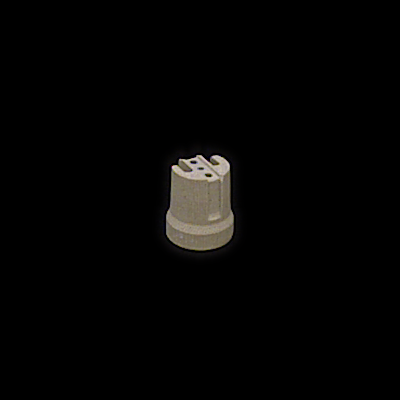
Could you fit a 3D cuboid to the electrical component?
[{"bbox_3d":[0.000,0.000,0.639,0.040,0.046,0.040,1,32,-1],"label":"electrical component"}]
